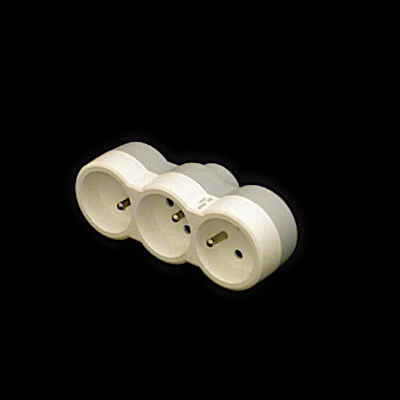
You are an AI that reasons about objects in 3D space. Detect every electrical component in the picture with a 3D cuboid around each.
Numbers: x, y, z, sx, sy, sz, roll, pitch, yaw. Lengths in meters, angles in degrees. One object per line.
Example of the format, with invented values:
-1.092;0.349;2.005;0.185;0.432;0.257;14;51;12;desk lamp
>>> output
0.000;0.000;0.645;0.136;0.053;0.073;21;36;29;electrical component
